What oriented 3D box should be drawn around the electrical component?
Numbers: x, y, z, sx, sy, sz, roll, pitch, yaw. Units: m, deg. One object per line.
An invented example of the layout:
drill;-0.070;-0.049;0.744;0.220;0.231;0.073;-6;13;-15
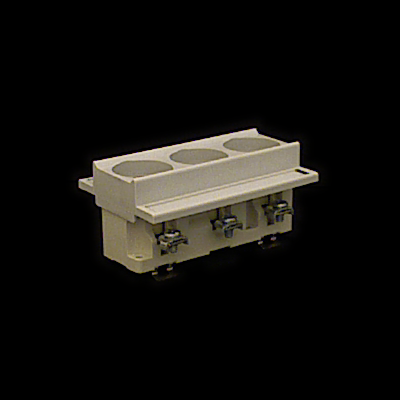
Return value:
electrical component;0.000;0.000;0.651;0.121;0.064;0.077;-14;25;-34
